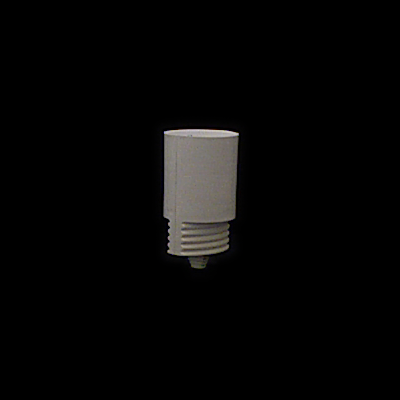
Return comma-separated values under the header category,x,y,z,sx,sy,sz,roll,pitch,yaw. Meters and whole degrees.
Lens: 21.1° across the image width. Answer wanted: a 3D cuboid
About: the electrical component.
category,x,y,z,sx,sy,sz,roll,pitch,yaw
electrical component,0.000,0.000,0.639,0.043,0.082,0.043,0,11,0
